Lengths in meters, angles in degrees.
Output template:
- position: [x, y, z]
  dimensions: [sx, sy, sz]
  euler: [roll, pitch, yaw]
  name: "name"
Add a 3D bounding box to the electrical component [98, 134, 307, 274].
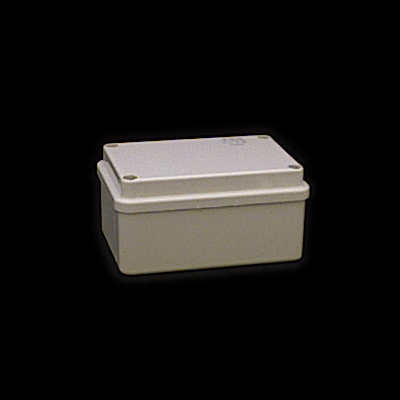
- position: [0.000, 0.000, 0.641]
  dimensions: [0.113, 0.058, 0.077]
  euler: [-4, 21, -14]
  name: "electrical component"
